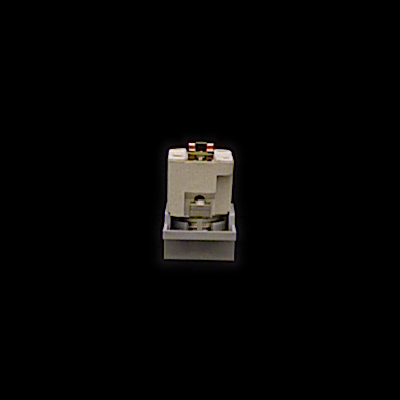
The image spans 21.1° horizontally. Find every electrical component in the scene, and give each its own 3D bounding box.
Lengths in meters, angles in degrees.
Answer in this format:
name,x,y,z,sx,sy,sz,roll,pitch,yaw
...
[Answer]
name,x,y,z,sx,sy,sz,roll,pitch,yaw
electrical component,0.000,0.000,0.643,0.042,0.064,0.080,1,10,-1
